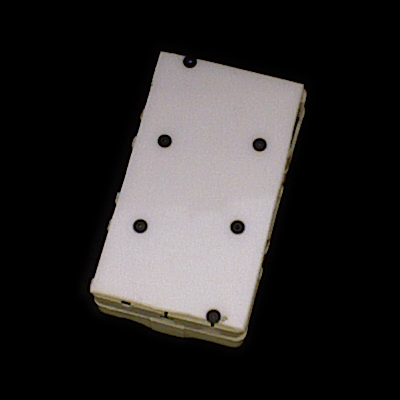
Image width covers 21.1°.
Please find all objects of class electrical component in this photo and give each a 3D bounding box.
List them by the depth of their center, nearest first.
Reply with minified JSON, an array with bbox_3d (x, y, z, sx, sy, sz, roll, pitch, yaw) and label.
[{"bbox_3d":[0.000,0.000,0.631,0.089,0.150,0.062,14,-17,4],"label":"electrical component"}]
